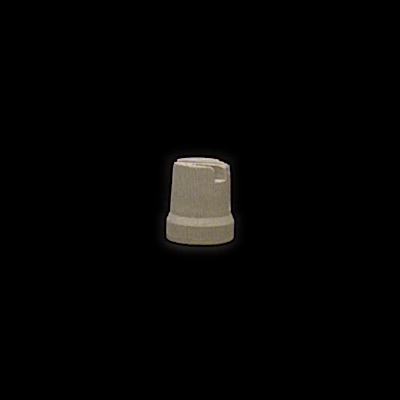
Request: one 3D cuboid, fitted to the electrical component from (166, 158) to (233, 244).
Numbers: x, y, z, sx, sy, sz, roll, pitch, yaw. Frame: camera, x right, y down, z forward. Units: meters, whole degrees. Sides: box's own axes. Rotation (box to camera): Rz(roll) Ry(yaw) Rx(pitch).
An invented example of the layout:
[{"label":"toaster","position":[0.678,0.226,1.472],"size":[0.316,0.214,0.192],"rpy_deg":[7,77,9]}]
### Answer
[{"label":"electrical component","position":[0.000,0.000,0.645],"size":[0.040,0.046,0.040],"rpy_deg":[1,12,0]}]
